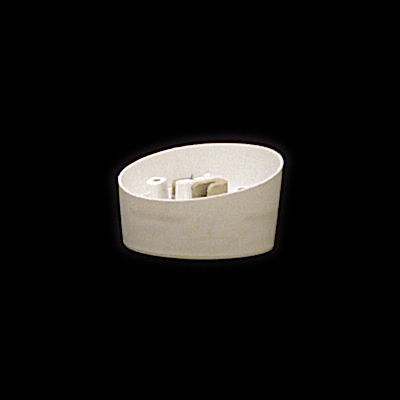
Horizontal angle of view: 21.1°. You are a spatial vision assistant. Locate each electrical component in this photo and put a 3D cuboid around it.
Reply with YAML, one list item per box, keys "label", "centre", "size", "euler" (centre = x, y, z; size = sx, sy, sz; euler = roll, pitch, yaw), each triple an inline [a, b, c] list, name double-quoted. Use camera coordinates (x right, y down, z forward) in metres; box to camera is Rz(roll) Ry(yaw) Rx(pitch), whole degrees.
- label: "electrical component"
  centre: [0.000, 0.000, 0.645]
  size: [0.099, 0.064, 0.098]
  euler: [1, 9, 0]
